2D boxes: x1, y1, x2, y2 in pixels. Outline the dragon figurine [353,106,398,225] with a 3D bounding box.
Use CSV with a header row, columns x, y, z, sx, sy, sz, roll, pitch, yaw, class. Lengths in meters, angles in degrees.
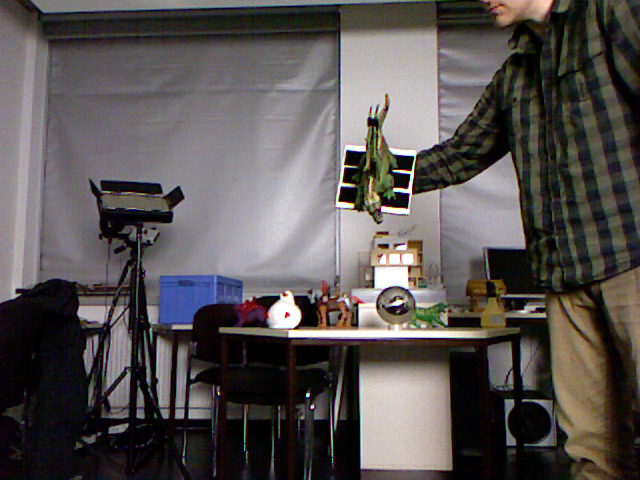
x,y,z,sx,sy,sz,roll,pitch,yaw,class
0.151,-0.227,1.347,0.122,0.417,0.239,3,-19,4,dragon figurine
